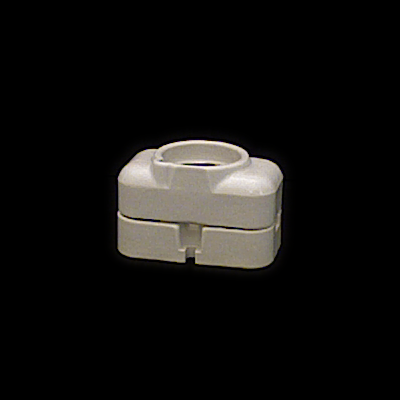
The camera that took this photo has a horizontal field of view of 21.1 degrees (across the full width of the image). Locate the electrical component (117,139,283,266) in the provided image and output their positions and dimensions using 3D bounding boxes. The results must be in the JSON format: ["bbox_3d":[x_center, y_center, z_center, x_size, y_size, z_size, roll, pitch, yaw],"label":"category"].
[{"bbox_3d":[0.000,0.000,0.644,0.095,0.060,0.053,5,22,10],"label":"electrical component"}]
